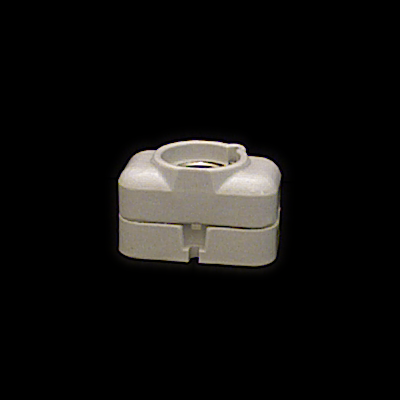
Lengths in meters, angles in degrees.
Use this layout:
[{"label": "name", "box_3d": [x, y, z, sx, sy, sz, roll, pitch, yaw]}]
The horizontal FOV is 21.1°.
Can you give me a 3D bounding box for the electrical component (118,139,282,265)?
[{"label": "electrical component", "box_3d": [0.000, 0.000, 0.647, 0.095, 0.060, 0.053, 4, 22, 6]}]
